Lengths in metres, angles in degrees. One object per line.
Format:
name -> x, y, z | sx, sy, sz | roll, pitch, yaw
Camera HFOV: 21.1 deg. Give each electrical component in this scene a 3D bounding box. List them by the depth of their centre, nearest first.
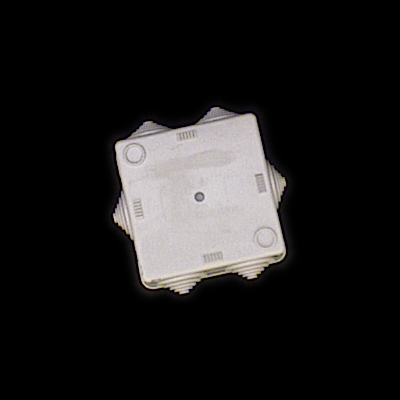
electrical component -> 0.000, 0.000, 0.632 | 0.100, 0.100, 0.048 | -12, -7, -2
